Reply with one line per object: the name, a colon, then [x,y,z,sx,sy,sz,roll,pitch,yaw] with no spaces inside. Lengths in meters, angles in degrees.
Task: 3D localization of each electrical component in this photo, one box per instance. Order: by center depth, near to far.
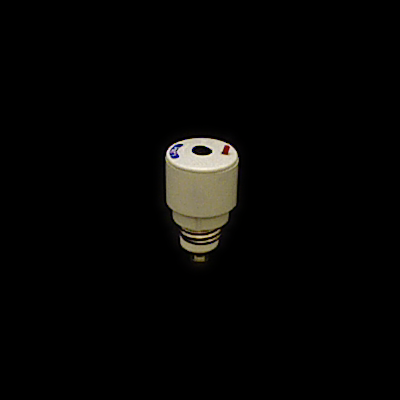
electrical component: [0.000,0.000,0.628,0.040,0.079,0.039,1,31,-1]
